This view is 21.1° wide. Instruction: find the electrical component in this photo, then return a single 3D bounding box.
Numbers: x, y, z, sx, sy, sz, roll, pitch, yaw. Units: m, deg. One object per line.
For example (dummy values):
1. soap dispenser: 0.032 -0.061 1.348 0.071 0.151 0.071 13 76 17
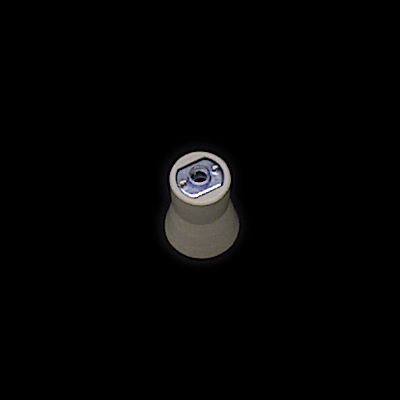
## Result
1. electrical component: 0.000 0.000 0.626 0.044 0.044 0.065 0 -28 1
